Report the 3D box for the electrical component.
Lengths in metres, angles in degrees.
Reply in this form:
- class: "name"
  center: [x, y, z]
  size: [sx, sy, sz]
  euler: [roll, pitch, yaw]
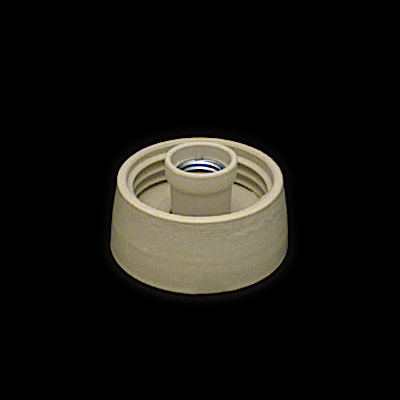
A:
- class: "electrical component"
  center: [0.000, 0.000, 0.640]
  size: [0.108, 0.061, 0.106]
  euler: [1, 32, 0]
